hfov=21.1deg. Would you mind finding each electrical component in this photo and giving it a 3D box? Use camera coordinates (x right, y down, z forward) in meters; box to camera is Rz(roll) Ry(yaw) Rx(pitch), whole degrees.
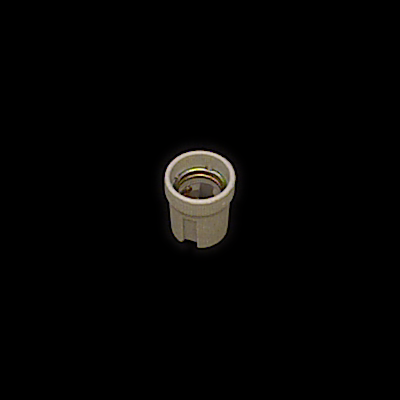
[{"bbox_3d":[0.000,0.000,0.632,0.040,0.039,0.047,0,-38,-1],"label":"electrical component"}]
